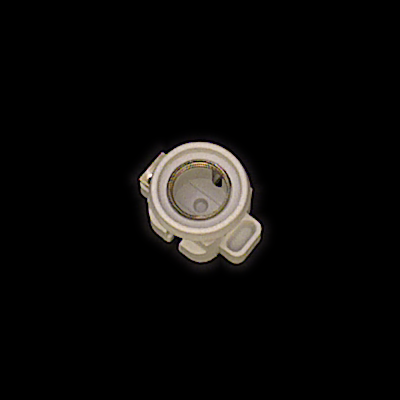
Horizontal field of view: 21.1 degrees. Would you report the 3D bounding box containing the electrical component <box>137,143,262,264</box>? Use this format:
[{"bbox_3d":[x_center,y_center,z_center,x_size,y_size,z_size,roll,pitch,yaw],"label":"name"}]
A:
[{"bbox_3d":[0.000,0.000,0.628,0.078,0.058,0.056,37,-13,10],"label":"electrical component"}]
